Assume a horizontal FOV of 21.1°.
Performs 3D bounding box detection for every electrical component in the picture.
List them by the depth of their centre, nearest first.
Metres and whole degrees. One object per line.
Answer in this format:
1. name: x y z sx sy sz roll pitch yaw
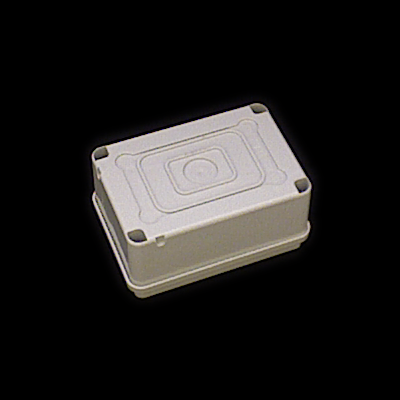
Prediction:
1. electrical component: 0.000 0.000 0.630 0.113 0.077 0.057 -17 -36 -14
